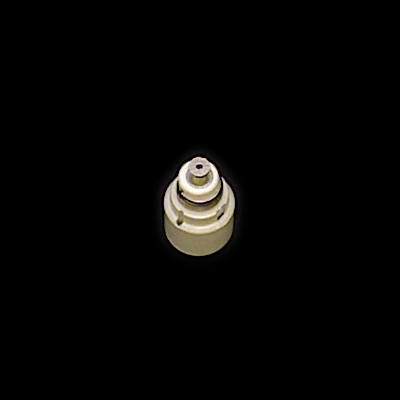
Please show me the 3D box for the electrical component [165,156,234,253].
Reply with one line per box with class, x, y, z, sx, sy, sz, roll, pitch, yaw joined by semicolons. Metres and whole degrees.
electrical component;0.000;0.000;0.618;0.040;0.040;0.078;0;-28;0
